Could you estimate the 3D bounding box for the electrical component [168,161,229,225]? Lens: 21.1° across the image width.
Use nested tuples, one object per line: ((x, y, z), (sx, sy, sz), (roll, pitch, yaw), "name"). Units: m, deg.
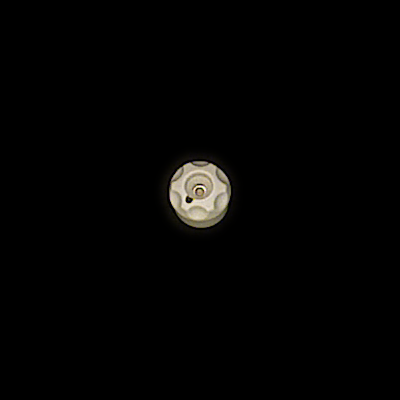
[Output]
((0.000, 0.000, 0.633), (0.035, 0.035, 0.061), (0, -16, 1), "electrical component")
